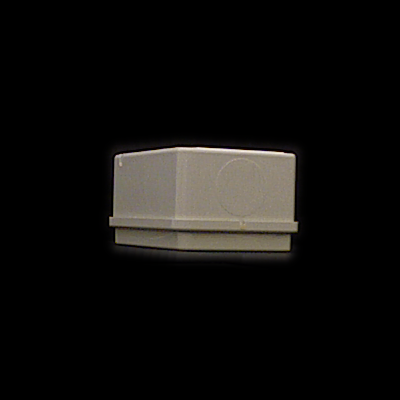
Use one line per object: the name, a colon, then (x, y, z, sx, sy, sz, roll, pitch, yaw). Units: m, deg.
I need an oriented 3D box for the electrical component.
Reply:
electrical component: (0.000, 0.000, 0.649, 0.078, 0.057, 0.113, 1, 0, -25)
